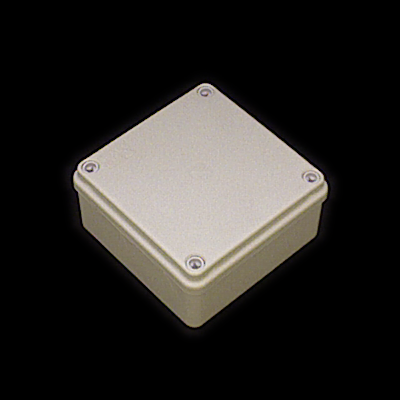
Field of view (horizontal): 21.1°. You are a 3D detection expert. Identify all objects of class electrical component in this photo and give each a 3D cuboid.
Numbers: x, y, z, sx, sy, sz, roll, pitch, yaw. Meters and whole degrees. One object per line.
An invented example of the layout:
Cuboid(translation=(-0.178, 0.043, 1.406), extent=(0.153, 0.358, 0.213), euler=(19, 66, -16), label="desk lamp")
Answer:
Cuboid(translation=(0.000, 0.000, 0.630), extent=(0.109, 0.056, 0.108), euler=(-36, 61, -25), label="electrical component")
